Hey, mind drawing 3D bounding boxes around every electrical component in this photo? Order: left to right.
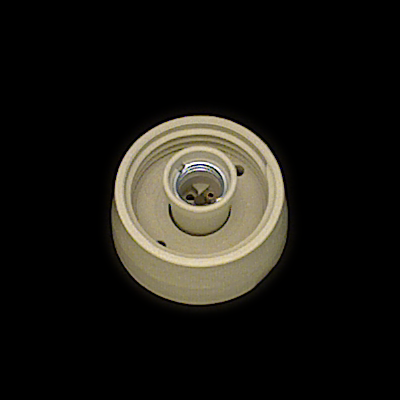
[{"bbox_3d":[0.000,0.000,0.633,0.108,0.108,0.060,0,-27,0],"label":"electrical component"}]
